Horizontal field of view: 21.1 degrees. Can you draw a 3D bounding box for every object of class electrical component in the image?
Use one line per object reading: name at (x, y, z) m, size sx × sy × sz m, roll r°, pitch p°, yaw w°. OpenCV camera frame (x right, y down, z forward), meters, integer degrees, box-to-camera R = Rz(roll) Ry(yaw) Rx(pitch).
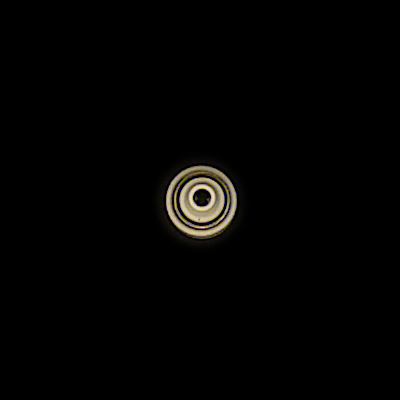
electrical component at (0.000, 0.000, 0.635) m, size 0.043 × 0.043 × 0.062 m, roll 0°, pitch -4°, yaw 0°
